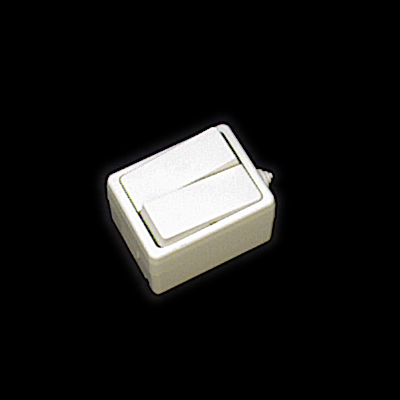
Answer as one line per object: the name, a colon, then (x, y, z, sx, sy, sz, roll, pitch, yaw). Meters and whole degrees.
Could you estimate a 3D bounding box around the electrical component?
electrical component: (0.000, 0.000, 0.627, 0.096, 0.062, 0.061, -25, -25, -13)
